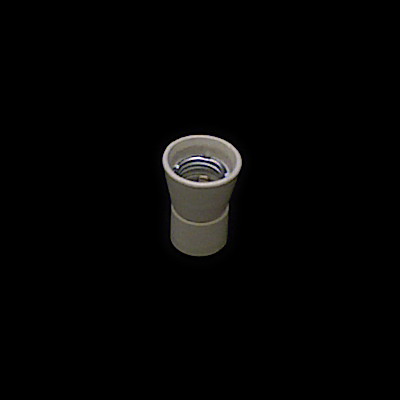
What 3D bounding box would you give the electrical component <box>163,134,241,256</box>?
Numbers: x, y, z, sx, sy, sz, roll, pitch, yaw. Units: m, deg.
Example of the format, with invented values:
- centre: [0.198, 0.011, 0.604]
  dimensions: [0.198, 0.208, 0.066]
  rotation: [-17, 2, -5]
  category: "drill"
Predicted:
- centre: [0.000, 0.000, 0.629]
  dimensions: [0.044, 0.066, 0.044]
  rotation: [1, 42, -1]
  category: "electrical component"
